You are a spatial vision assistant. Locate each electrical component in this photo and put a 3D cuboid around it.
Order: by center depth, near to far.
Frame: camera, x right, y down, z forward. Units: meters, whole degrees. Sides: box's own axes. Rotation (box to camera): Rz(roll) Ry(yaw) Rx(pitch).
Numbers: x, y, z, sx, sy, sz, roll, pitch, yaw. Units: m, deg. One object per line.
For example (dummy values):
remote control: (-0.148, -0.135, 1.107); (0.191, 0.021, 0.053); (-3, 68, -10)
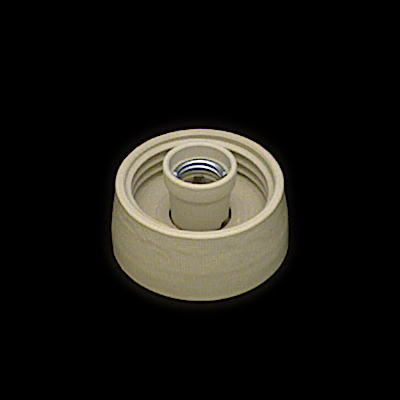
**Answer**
electrical component: (0.000, 0.000, 0.637); (0.108, 0.061, 0.107); (1, 43, 0)
